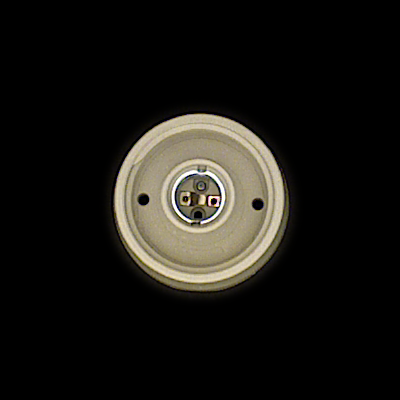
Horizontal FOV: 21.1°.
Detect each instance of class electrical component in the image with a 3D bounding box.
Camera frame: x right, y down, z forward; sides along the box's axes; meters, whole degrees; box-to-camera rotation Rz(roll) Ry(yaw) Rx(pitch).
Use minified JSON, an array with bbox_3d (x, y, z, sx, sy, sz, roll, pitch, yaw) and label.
[{"bbox_3d":[0.000,0.000,0.635,0.108,0.108,0.060,0,-6,0],"label":"electrical component"}]
